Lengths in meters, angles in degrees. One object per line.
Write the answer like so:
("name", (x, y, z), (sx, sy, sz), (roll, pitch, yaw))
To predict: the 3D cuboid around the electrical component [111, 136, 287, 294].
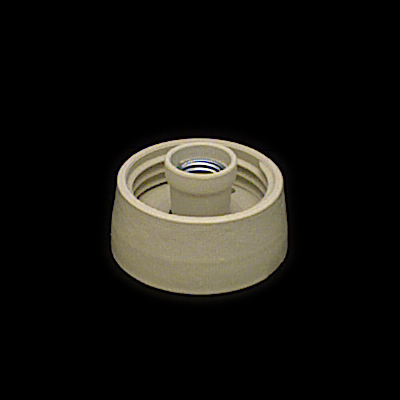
("electrical component", (0.000, 0.000, 0.641), (0.108, 0.061, 0.106), (1, 32, 0))
